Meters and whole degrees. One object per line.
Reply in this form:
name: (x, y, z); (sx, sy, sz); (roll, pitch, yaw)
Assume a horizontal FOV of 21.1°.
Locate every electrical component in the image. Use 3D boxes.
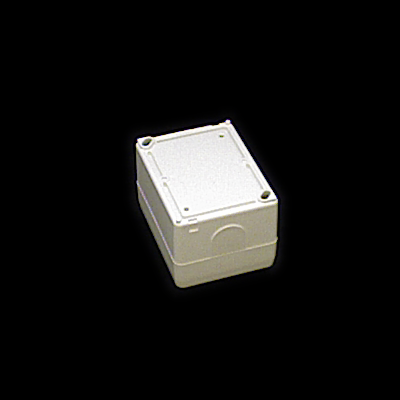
electrical component: (0.000, 0.000, 0.635); (0.062, 0.061, 0.095); (-13, 44, -14)
